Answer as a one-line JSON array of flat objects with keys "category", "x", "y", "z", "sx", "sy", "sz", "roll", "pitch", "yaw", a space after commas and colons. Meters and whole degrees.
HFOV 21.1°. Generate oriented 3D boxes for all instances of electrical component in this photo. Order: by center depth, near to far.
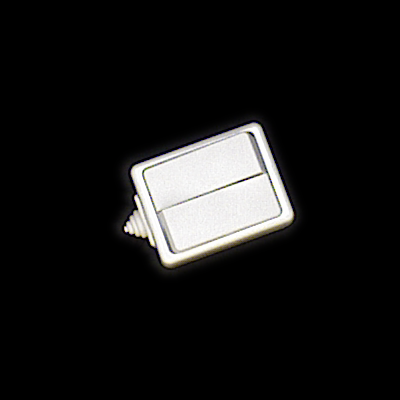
[{"category": "electrical component", "x": 0.000, "y": 0.000, "z": 0.627, "sx": 0.096, "sy": 0.062, "sz": 0.061, "roll": -20, "pitch": -6, "yaw": -2}]
